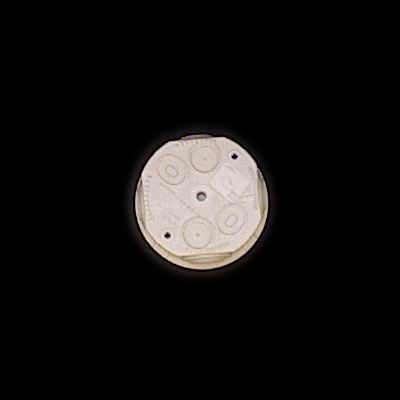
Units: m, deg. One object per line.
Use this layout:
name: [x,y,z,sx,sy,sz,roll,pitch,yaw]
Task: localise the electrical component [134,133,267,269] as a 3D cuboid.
electrical component: [0.000,0.000,0.633,0.080,0.080,0.050,0,-7,0]
